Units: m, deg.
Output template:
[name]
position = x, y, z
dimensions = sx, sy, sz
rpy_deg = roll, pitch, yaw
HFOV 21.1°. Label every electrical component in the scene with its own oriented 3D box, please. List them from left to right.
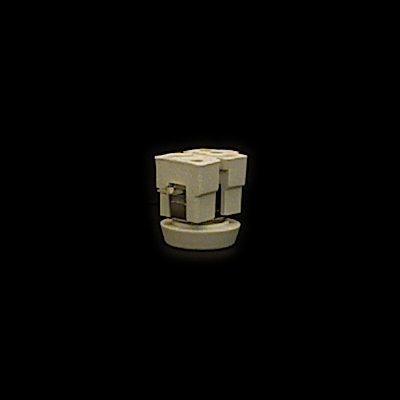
[electrical component]
position = 0.000, 0.000, 0.653
dimensions = 0.048, 0.056, 0.067
rpy_deg = 13, 17, 40
